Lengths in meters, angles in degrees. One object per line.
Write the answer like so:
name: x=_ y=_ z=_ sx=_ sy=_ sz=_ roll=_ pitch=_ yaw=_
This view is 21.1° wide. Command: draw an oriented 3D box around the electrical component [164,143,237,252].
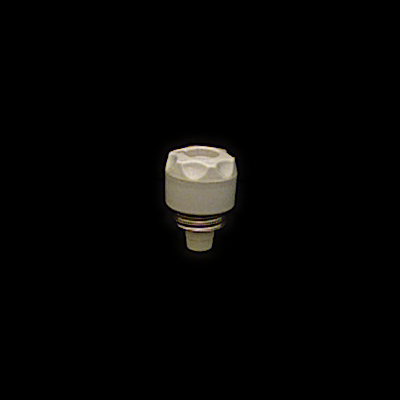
electrical component: x=0.000 y=0.000 z=0.646 sx=0.043 sy=0.063 sz=0.043 roll=2 pitch=22 yaw=0
